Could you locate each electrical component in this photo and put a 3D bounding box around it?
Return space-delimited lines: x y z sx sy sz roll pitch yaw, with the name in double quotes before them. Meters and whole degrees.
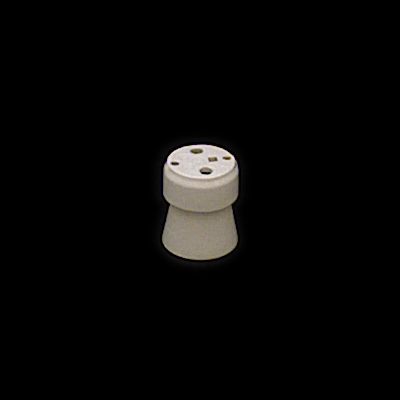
"electrical component" 0.000 0.000 0.634 0.045 0.056 0.044 0 32 0
